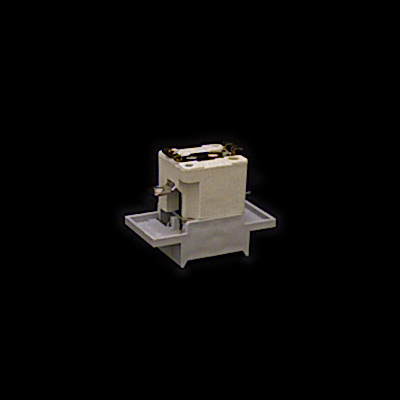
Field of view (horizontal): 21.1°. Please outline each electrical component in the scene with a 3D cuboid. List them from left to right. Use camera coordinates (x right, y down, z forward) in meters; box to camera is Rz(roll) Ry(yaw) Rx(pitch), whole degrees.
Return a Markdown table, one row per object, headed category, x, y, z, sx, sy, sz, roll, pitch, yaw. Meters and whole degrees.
| category | x | y | z | sx | sy | sz | roll | pitch | yaw |
| --- | --- | --- | --- | --- | --- | --- | --- | --- | --- |
| electrical component | 0.000 | 0.000 | 0.639 | 0.081 | 0.064 | 0.041 | -10 | 24 | -26 |
